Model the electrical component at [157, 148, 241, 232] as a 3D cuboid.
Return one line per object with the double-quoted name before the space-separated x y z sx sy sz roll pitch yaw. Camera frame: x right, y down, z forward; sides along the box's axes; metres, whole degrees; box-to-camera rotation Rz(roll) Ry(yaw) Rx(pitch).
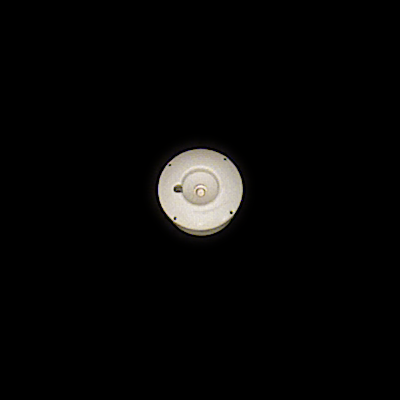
"electrical component" 0.000 0.000 0.632 0.048 0.048 0.061 0 -16 1
